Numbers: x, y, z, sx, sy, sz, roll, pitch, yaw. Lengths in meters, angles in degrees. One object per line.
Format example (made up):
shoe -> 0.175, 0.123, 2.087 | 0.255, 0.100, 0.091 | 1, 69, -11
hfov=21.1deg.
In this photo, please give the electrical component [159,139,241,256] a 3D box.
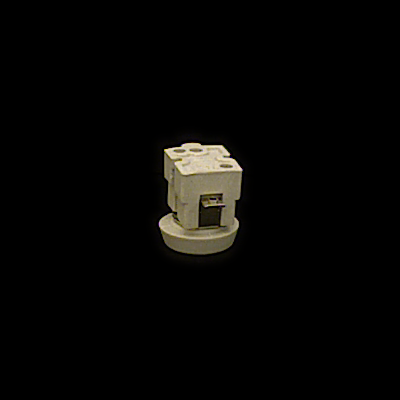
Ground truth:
electrical component -> 0.000, 0.000, 0.647 | 0.049, 0.056, 0.065 | -4, 23, -15
